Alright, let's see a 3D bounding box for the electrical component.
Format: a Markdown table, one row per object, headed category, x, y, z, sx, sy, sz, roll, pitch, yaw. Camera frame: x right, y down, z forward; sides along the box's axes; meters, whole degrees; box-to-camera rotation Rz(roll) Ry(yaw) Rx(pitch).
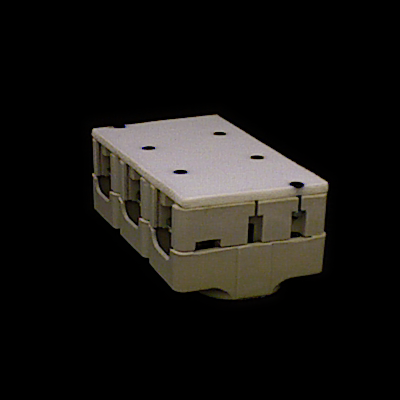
| category | x | y | z | sx | sy | sz | roll | pitch | yaw |
| --- | --- | --- | --- | --- | --- | --- | --- | --- | --- |
| electrical component | 0.000 | 0.000 | 0.643 | 0.089 | 0.063 | 0.147 | -8 | 22 | -22 |
